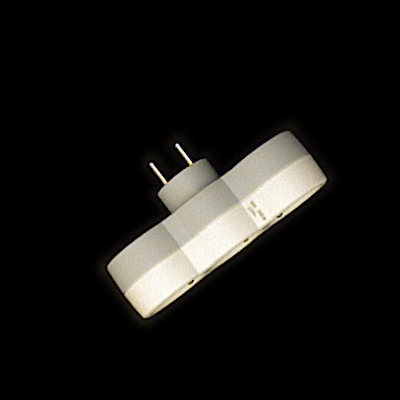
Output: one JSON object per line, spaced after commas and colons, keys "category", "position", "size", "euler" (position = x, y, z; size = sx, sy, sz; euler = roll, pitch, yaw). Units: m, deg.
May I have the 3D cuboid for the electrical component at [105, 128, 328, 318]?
{"category": "electrical component", "position": [0.000, 0.000, 0.639], "size": [0.138, 0.074, 0.052], "euler": [-37, -6, -4]}
